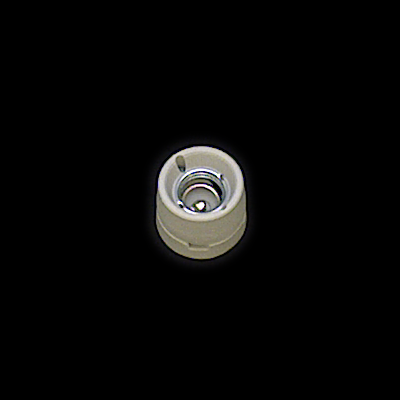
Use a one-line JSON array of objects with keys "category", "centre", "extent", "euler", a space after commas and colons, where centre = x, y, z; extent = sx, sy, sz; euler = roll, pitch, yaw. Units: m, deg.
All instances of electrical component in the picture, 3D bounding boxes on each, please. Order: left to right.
[{"category": "electrical component", "centre": [0.000, 0.000, 0.633], "extent": [0.055, 0.055, 0.047], "euler": [0, -28, 0]}]
